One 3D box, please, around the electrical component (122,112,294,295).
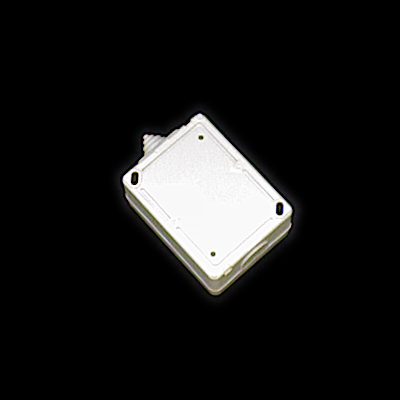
[{"bbox_3d":[0.000,0.000,0.627,0.062,0.096,0.061,-41,-13,-11],"label":"electrical component"}]
